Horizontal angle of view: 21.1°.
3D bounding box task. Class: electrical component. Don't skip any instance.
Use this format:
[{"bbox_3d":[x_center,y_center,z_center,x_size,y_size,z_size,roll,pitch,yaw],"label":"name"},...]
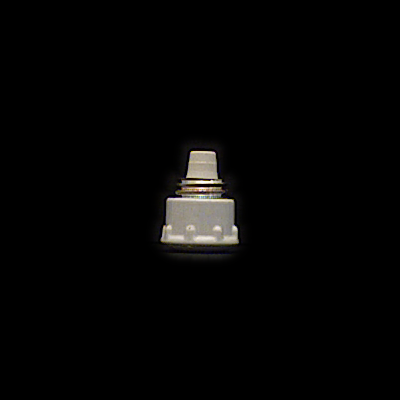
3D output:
[{"bbox_3d":[0.000,0.000,0.658,0.048,0.062,0.048,2,1,0],"label":"electrical component"}]
